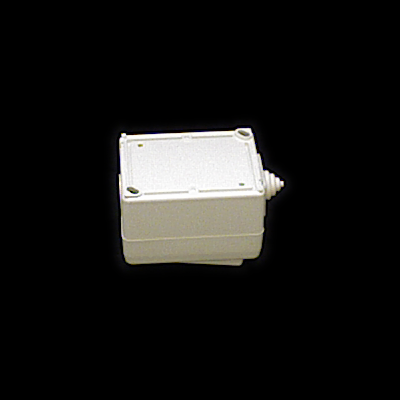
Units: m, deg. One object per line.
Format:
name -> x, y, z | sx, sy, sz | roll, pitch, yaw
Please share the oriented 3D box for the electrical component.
electrical component -> 0.000, 0.000, 0.633 | 0.096, 0.061, 0.061 | -3, 41, -4
